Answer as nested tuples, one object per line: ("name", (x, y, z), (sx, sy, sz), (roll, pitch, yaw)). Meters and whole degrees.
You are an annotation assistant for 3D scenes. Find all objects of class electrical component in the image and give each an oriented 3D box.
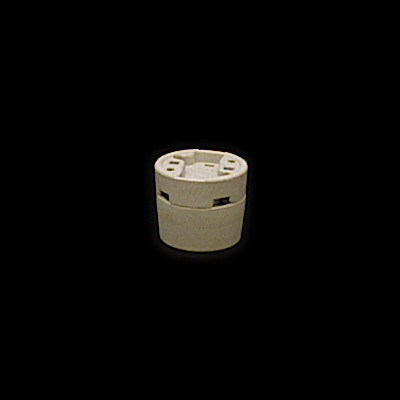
("electrical component", (0.000, 0.000, 0.640), (0.055, 0.047, 0.055), (1, 21, 0))
